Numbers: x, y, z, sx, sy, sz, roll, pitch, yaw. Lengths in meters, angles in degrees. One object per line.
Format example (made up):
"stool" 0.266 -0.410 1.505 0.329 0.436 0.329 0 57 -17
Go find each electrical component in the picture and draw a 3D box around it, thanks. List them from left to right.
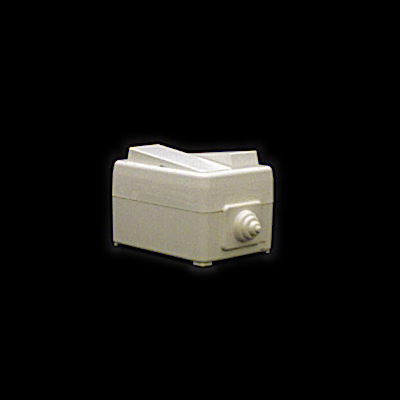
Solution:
"electrical component" 0.000 0.000 0.643 0.096 0.061 0.061 11 14 44
